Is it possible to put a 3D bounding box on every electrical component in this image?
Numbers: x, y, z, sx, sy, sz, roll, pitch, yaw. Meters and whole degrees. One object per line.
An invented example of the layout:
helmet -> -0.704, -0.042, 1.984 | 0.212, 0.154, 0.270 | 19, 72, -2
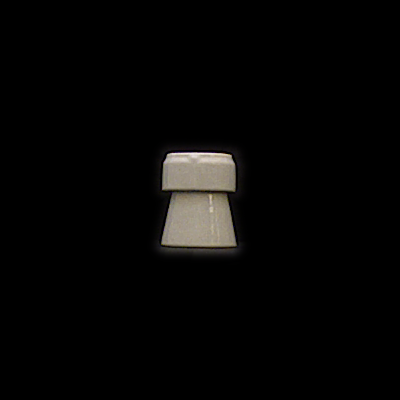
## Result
electrical component -> 0.000, 0.000, 0.650 | 0.045, 0.055, 0.045 | 1, 0, 0
